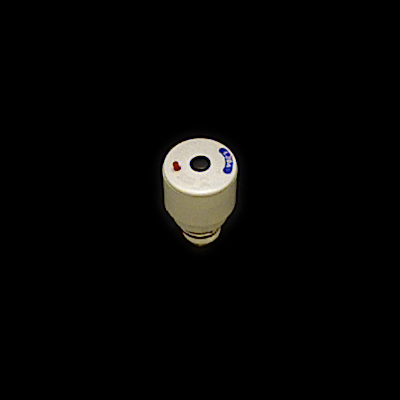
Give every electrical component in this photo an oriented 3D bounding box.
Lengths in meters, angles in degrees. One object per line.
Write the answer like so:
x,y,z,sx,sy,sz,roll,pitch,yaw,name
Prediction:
0.000,0.000,0.620,0.040,0.040,0.079,0,-37,0,electrical component
